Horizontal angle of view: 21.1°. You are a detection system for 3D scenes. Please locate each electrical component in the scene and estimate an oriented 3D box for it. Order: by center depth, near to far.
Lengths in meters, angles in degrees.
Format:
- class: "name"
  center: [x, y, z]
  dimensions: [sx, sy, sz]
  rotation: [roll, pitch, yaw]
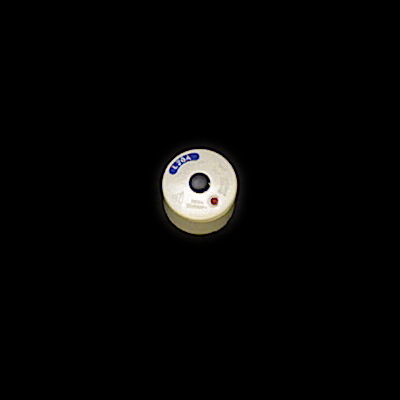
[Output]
- class: "electrical component"
  center: [0.000, 0.000, 0.616]
  dimensions: [0.040, 0.040, 0.078]
  rotation: [0, -16, 0]
